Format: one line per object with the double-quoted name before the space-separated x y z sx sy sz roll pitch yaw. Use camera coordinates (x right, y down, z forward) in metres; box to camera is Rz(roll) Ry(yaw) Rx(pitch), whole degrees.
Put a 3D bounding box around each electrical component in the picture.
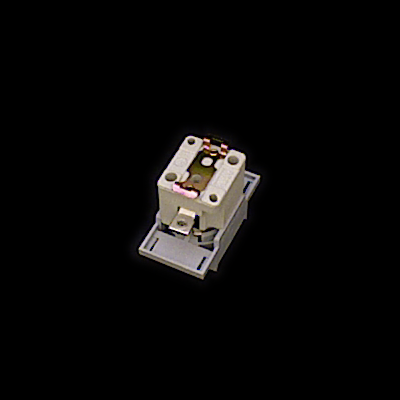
"electrical component" 0.000 0.000 0.628 0.042 0.080 0.064 20 -35 15
